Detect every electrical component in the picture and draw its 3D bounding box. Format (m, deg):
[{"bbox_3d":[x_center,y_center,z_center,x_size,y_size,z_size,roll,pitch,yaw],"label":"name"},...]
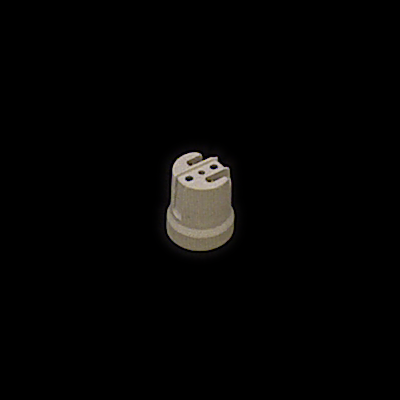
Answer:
[{"bbox_3d":[0.000,0.000,0.635,0.040,0.046,0.040,0,43,0],"label":"electrical component"}]
